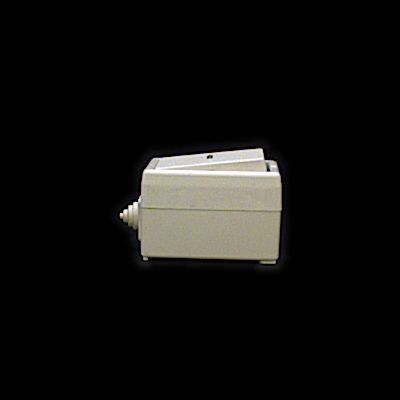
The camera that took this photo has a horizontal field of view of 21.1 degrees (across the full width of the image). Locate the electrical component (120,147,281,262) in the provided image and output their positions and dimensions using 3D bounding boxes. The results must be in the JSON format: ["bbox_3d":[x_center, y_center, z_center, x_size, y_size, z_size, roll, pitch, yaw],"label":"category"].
[{"bbox_3d":[0.000,0.000,0.644,0.096,0.061,0.061,1,11,1],"label":"electrical component"}]
